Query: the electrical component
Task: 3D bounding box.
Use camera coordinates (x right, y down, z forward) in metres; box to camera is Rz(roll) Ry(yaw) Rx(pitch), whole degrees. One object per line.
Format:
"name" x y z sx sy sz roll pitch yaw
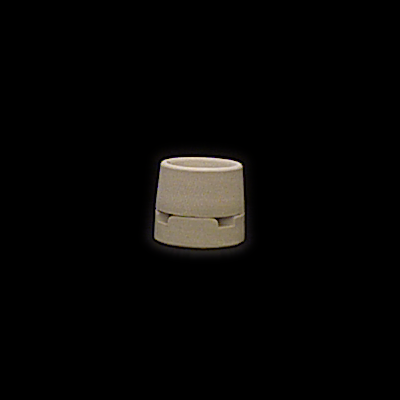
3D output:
"electrical component" 0.000 0.000 0.645 0.055 0.047 0.055 2 11 0
